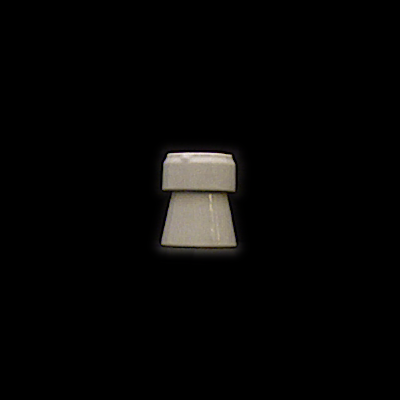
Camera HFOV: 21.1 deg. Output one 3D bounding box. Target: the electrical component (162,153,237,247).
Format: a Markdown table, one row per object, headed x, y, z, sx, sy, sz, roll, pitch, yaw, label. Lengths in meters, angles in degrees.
| x | y | z | sx | sy | sz | roll | pitch | yaw | label |
| --- | --- | --- | --- | --- | --- | --- | --- | --- | --- |
| 0.000 | 0.000 | 0.650 | 0.045 | 0.055 | 0.045 | 1 | 0 | 0 | electrical component |
